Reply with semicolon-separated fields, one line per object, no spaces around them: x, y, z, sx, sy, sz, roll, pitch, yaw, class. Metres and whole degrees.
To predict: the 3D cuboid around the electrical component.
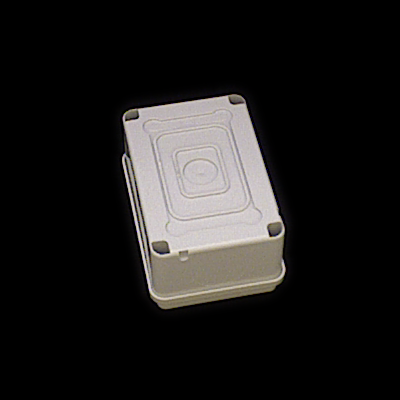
0.000;0.000;0.629;0.078;0.112;0.057;-9;-38;-7;electrical component
